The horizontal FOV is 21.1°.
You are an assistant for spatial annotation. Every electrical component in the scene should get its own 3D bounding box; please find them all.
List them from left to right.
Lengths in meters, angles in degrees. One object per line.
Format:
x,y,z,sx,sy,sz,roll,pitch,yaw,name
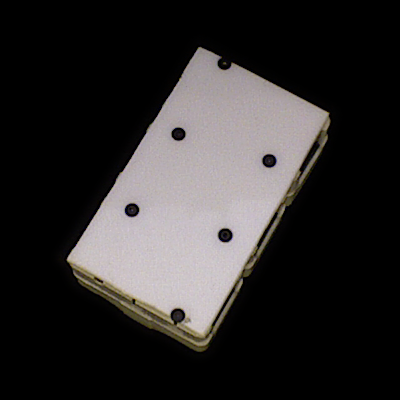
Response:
0.000,0.000,0.631,0.089,0.150,0.062,29,-15,8,electrical component
